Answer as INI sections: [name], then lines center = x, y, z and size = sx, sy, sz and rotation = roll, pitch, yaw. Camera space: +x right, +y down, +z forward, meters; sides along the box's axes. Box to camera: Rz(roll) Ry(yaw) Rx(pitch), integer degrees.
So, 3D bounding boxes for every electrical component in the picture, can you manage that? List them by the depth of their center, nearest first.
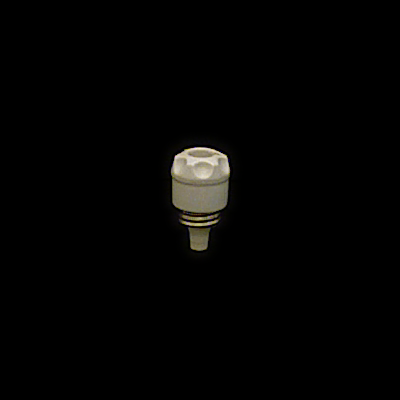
[electrical component]
center = 0.000, 0.000, 0.645
size = 0.035, 0.062, 0.034
rotation = 1, 23, 0
